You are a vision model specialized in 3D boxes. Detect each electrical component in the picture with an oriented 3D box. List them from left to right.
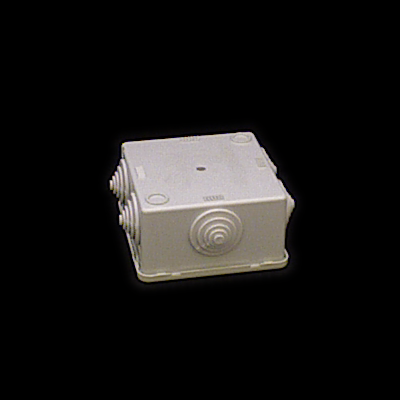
[{"bbox_3d":[0.000,0.000,0.638,0.100,0.049,0.098,-5,32,-11],"label":"electrical component"}]
